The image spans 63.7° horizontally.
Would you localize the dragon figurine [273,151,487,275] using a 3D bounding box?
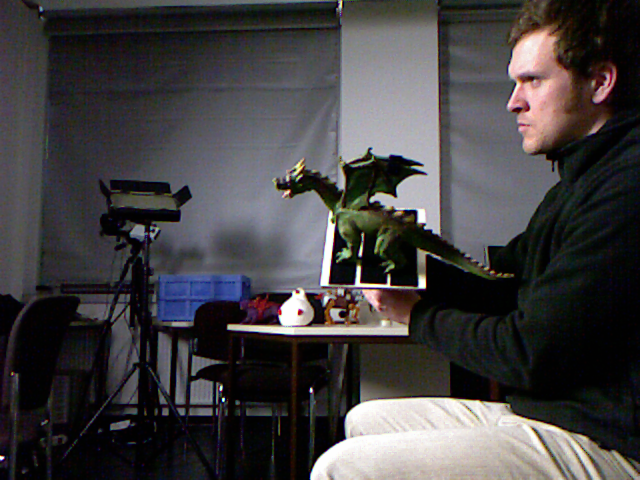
[{"bbox_3d":[0.115,-0.057,0.945,0.412,0.125,0.238,11,-34,13],"label":"dragon figurine"}]
